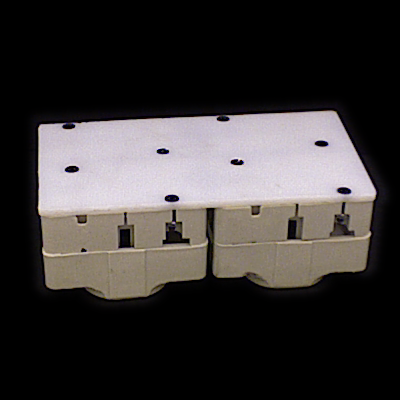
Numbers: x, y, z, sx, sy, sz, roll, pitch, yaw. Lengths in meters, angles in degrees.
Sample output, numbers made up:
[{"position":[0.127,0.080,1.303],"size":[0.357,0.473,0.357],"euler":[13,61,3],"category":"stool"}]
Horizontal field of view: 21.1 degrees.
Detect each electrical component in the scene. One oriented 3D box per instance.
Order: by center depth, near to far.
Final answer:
[{"position":[0.000,0.000,0.634],"size":[0.186,0.061,0.104],"euler":[-3,32,-7],"category":"electrical component"}]
